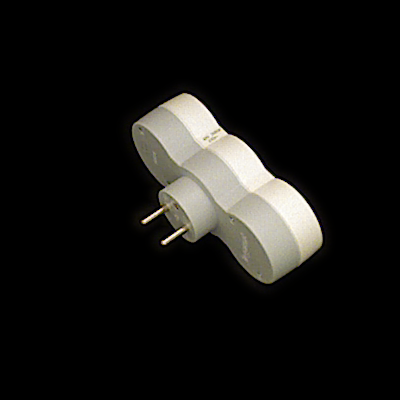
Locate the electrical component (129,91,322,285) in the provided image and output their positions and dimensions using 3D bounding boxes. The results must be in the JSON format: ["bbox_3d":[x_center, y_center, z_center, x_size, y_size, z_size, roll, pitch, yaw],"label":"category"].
[{"bbox_3d":[0.000,0.000,0.638,0.074,0.137,0.052,-33,-30,-21],"label":"electrical component"}]
